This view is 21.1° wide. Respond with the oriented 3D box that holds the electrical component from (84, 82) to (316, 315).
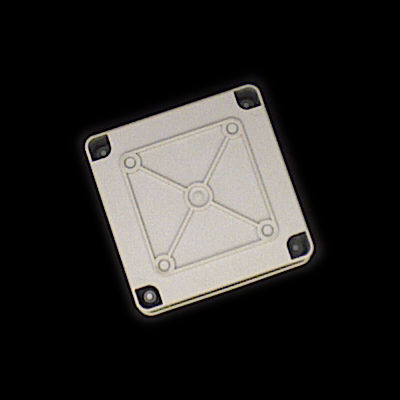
[{"bbox_3d":[0.000,0.000,0.628,0.109,0.109,0.056,-19,-6,-2],"label":"electrical component"}]
